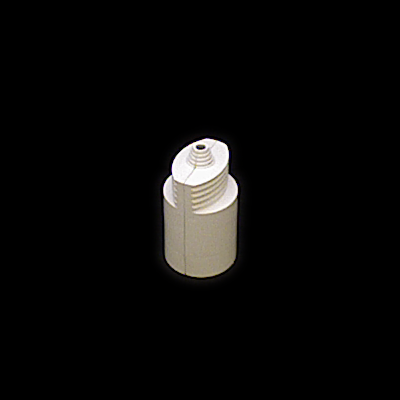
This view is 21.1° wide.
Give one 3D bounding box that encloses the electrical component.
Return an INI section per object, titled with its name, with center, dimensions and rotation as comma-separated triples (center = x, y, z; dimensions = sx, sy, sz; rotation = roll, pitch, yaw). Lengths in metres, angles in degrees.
[electrical component]
center = 0.000, 0.000, 0.624
dimensions = 0.043, 0.082, 0.042
rotation = 1, 41, 0
